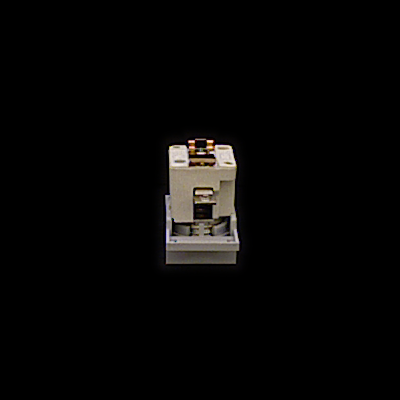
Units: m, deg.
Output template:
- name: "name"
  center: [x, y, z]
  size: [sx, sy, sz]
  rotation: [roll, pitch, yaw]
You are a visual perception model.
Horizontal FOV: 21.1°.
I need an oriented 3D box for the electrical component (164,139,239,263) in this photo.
- name: "electrical component"
  center: [0.000, 0.000, 0.639]
  size: [0.042, 0.064, 0.079]
  rotation: [0, 21, -3]
